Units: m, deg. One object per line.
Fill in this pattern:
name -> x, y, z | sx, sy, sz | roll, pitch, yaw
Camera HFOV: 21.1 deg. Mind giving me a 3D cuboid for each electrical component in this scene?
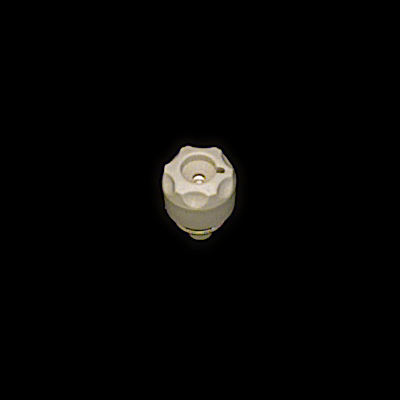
electrical component -> 0.000, 0.000, 0.635 | 0.043, 0.043, 0.062 | 0, -37, 1
